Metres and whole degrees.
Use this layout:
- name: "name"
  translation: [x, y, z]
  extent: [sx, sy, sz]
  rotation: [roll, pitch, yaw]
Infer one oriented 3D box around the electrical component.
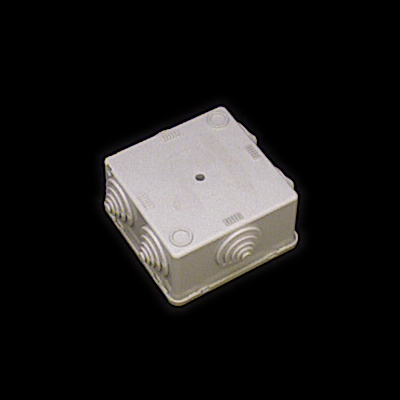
- name: "electrical component"
  translation: [0.000, 0.000, 0.633]
  extent: [0.100, 0.099, 0.049]
  rotation: [-26, -33, -19]
